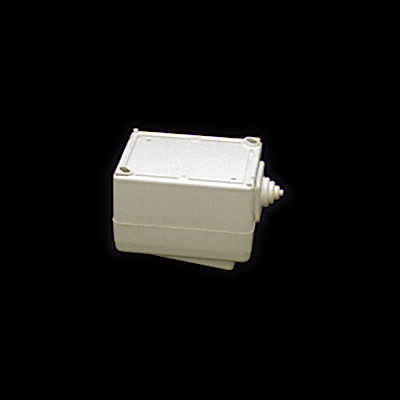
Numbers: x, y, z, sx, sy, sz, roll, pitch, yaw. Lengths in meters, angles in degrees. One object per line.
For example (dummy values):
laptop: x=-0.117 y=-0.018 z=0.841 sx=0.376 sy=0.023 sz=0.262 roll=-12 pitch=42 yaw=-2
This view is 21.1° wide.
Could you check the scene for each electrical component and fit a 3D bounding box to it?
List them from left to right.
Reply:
electrical component: x=0.000 y=0.000 z=0.635 sx=0.096 sy=0.061 sz=0.061 roll=4 pitch=31 yaw=6
